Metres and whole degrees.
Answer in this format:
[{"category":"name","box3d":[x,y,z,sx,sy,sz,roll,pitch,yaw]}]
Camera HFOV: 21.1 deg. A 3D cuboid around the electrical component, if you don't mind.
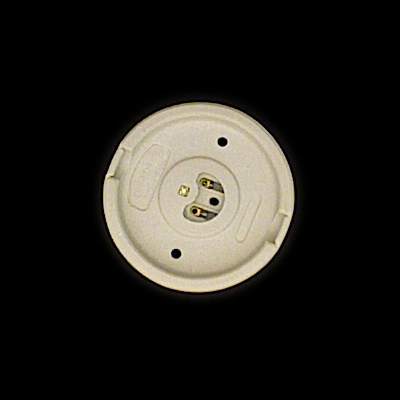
[{"category":"electrical component","box3d":[0.000,0.000,0.635,0.108,0.108,0.060,0,-6,0]}]
